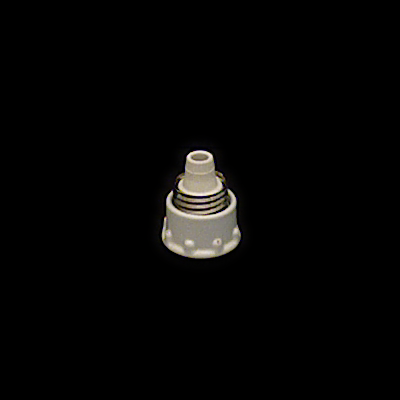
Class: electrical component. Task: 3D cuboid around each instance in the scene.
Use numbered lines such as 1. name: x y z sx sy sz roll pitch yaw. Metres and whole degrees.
1. electrical component: 0.000 0.000 0.640 0.048 0.063 0.047 0 32 1
